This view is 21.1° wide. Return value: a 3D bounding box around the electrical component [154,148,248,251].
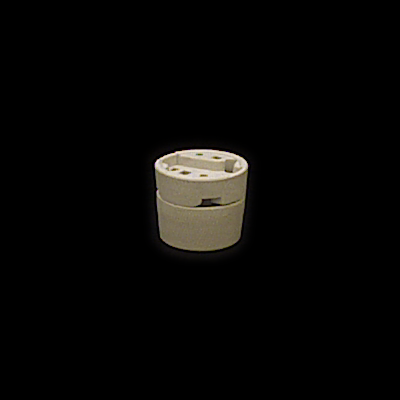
[{"bbox_3d":[0.000,0.000,0.641,0.055,0.047,0.055,1,21,0],"label":"electrical component"}]
